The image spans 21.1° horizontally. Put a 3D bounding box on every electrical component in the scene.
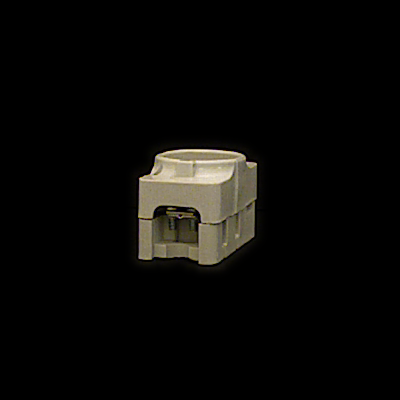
[{"bbox_3d":[0.000,0.000,0.651,0.050,0.056,0.089,5,11,16],"label":"electrical component"}]
